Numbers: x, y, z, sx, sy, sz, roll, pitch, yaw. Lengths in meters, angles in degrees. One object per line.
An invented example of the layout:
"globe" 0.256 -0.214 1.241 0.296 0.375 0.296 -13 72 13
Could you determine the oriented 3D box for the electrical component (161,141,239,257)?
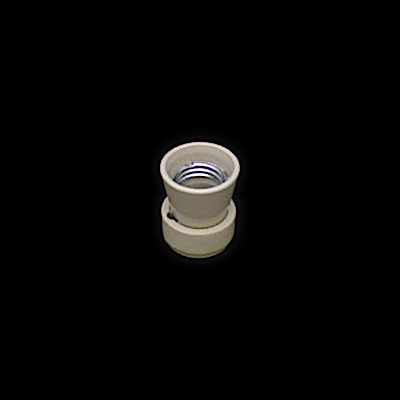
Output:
"electrical component" 0.000 0.000 0.631 0.045 0.055 0.044 0 43 0
